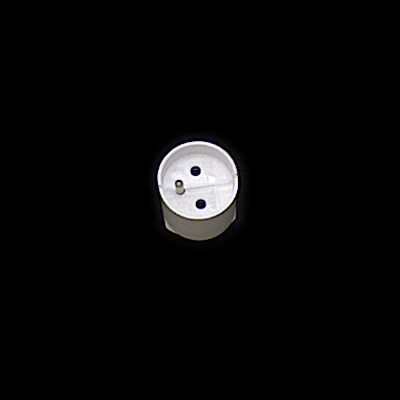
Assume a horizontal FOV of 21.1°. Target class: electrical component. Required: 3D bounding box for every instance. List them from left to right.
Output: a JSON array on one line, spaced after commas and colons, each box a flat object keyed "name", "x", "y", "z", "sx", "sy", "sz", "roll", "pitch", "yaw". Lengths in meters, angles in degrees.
[{"name": "electrical component", "x": 0.000, "y": 0.000, "z": 0.615, "sx": 0.043, "sy": 0.043, "sz": 0.080, "roll": 0, "pitch": -17, "yaw": 1}]
